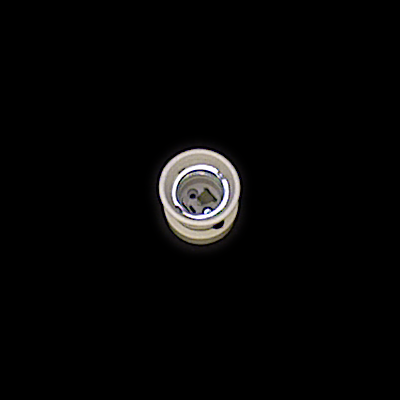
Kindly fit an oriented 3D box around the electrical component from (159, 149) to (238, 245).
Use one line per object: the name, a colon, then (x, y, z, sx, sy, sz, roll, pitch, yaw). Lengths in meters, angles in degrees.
electrical component: (0.000, 0.000, 0.627, 0.045, 0.045, 0.055, 0, -16, 1)
